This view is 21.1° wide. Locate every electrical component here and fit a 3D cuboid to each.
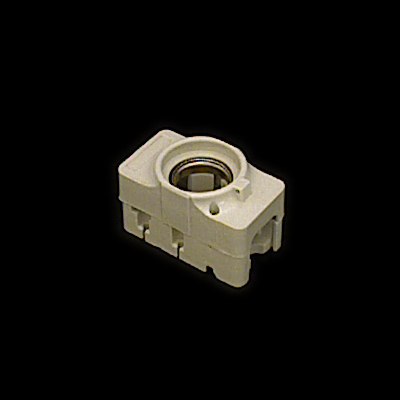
[{"bbox_3d":[0.000,0.000,0.639,0.089,0.056,0.050,25,48,24],"label":"electrical component"}]
